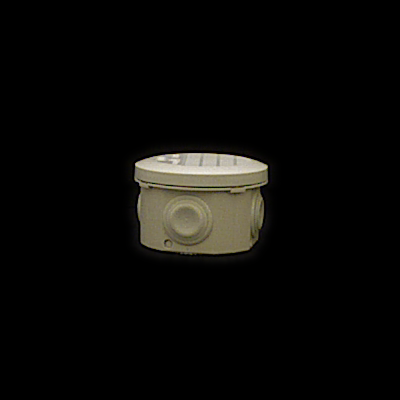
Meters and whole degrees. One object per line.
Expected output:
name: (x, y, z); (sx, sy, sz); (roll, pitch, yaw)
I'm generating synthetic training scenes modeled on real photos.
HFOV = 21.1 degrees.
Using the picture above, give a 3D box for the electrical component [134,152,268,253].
electrical component: (0.000, 0.000, 0.647); (0.080, 0.051, 0.079); (1, 10, 0)
